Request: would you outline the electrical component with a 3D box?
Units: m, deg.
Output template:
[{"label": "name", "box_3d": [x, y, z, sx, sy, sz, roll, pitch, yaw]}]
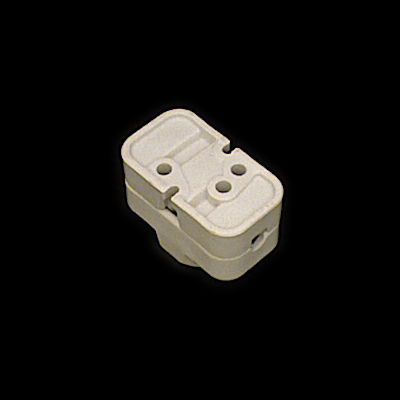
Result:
[{"label": "electrical component", "box_3d": [0.000, 0.000, 0.637, 0.054, 0.059, 0.094, -38, 62, -25]}]
